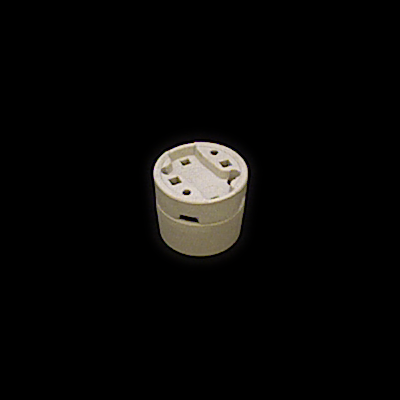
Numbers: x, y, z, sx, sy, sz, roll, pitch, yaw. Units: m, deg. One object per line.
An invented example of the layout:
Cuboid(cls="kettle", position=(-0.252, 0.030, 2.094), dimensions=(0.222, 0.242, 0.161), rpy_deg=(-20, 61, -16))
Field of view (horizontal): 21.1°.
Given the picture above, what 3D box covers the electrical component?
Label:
Cuboid(cls="electrical component", position=(0.000, 0.000, 0.636), dimensions=(0.055, 0.047, 0.055), rpy_deg=(1, 42, 0))
